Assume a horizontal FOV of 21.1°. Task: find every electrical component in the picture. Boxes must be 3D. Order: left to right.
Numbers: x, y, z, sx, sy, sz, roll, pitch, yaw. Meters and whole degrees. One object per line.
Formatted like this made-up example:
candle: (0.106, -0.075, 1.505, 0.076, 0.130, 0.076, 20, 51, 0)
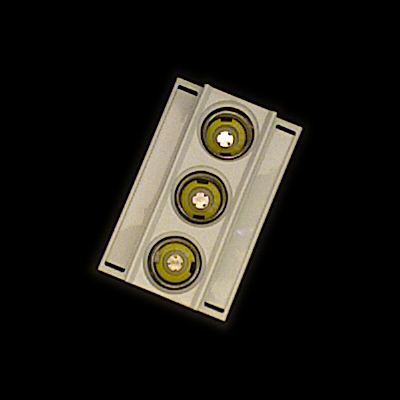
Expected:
electrical component: (0.000, 0.000, 0.637, 0.079, 0.121, 0.063, 22, -5, 1)
